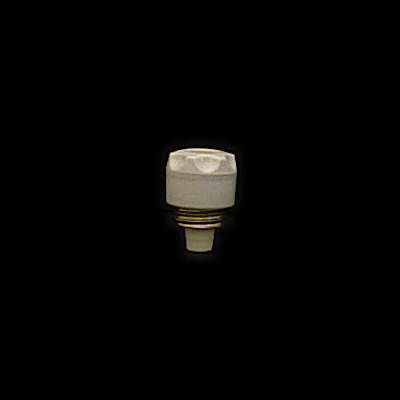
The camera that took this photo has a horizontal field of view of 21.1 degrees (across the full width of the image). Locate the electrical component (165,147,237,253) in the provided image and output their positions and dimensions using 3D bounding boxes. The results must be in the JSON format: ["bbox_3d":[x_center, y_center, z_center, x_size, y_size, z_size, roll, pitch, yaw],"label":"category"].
[{"bbox_3d":[0.000,0.000,0.651,0.043,0.062,0.043,2,12,0],"label":"electrical component"}]
